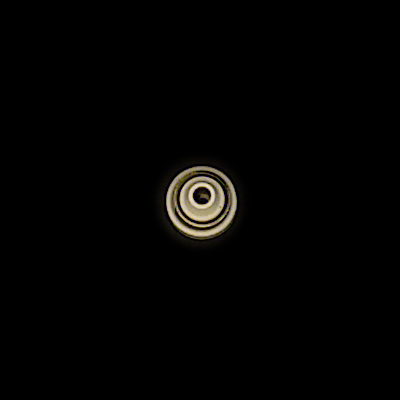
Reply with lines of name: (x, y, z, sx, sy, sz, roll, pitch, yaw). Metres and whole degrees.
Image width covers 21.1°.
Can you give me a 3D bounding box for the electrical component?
electrical component: (0.000, 0.000, 0.635, 0.043, 0.043, 0.062, 0, -6, 0)
